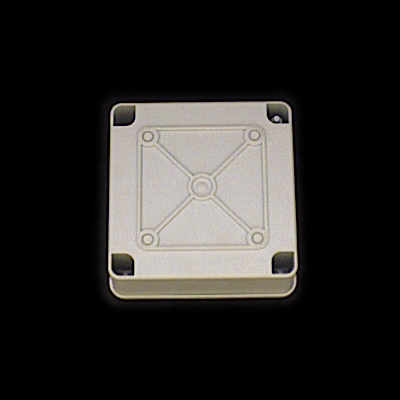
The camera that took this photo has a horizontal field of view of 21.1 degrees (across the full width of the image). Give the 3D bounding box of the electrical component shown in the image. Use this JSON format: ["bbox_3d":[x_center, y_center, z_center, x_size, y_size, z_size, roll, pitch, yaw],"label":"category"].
[{"bbox_3d":[0.000,0.000,0.629,0.109,0.109,0.056,0,-18,-1],"label":"electrical component"}]
